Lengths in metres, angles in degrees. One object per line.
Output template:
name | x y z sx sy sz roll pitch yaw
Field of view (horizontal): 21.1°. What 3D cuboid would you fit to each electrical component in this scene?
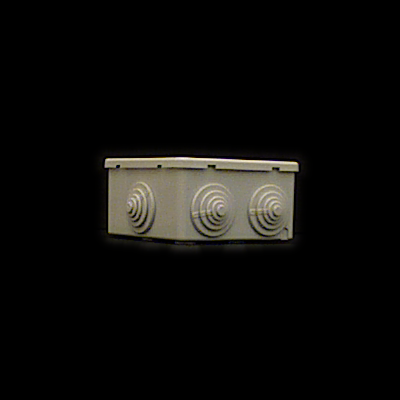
electrical component | 0.000 0.000 0.655 0.100 0.048 0.098 0 1 -35
